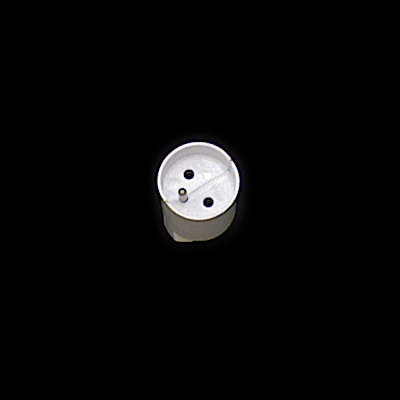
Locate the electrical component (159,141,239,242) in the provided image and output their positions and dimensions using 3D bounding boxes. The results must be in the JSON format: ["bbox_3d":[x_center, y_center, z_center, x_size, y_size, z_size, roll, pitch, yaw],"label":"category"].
[{"bbox_3d":[0.000,0.000,0.614,0.043,0.043,0.080,0,-17,1],"label":"electrical component"}]
